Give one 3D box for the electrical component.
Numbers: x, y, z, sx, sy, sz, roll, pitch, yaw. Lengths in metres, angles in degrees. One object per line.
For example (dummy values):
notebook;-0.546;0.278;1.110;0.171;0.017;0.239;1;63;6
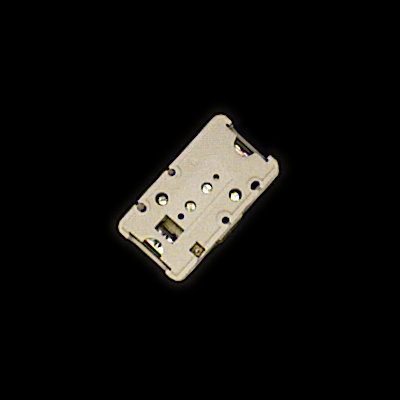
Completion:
electrical component;0.000;0.000;0.637;0.050;0.090;0.055;42;-4;3
